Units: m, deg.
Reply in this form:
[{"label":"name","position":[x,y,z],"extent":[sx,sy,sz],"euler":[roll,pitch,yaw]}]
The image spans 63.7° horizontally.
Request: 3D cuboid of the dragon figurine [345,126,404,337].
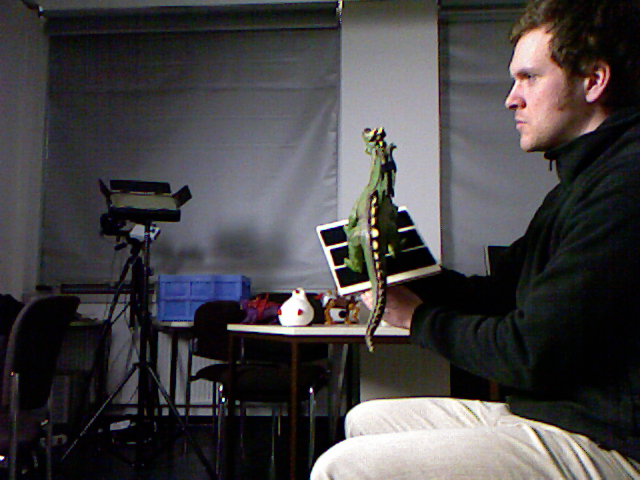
[{"label":"dragon figurine","position":[0.106,-0.057,0.956],"extent":[0.123,0.422,0.238],"euler":[-2,-41,2]}]
